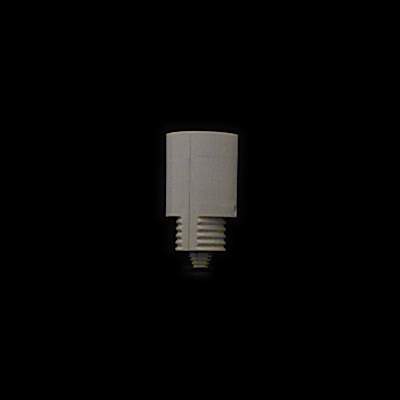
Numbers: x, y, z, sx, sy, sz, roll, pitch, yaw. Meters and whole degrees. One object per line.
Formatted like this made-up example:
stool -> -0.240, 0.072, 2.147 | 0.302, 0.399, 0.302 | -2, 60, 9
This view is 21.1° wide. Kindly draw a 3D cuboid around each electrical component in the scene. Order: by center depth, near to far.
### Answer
electrical component -> 0.000, 0.000, 0.652 | 0.043, 0.081, 0.043 | 2, 1, 0
